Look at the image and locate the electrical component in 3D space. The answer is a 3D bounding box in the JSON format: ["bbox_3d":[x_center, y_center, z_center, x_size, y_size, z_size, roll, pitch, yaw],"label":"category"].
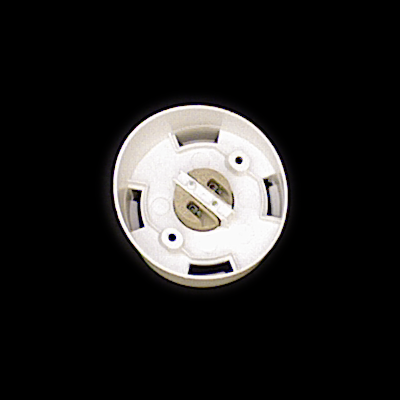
[{"bbox_3d":[0.000,0.000,0.623,0.099,0.099,0.064,0,-17,1],"label":"electrical component"}]
